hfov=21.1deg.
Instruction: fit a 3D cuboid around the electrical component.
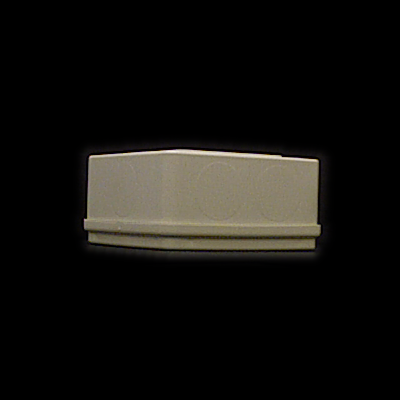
[{"bbox_3d":[0.000,0.000,0.650,0.109,0.056,0.108,2,0,-32],"label":"electrical component"}]
